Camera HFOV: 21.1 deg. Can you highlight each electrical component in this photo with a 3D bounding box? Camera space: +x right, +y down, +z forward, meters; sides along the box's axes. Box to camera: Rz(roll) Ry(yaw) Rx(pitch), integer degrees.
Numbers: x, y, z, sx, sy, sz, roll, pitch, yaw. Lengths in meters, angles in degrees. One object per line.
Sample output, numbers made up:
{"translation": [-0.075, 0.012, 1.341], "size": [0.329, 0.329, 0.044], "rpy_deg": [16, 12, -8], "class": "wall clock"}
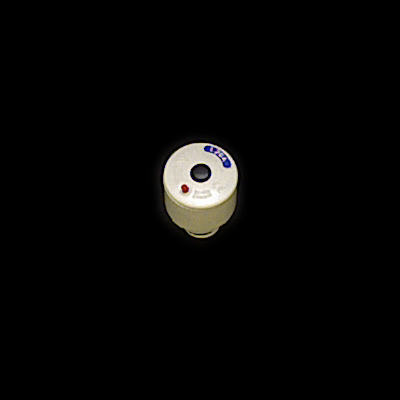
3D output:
{"translation": [0.000, 0.000, 0.617], "size": [0.040, 0.040, 0.078], "rpy_deg": [0, -27, 0], "class": "electrical component"}
